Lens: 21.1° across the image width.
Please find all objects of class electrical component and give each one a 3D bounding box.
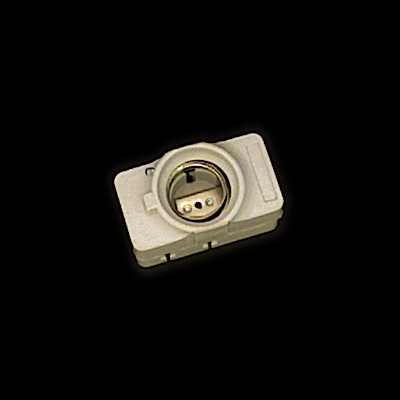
[{"bbox_3d":[0.000,0.000,0.636,0.090,0.050,0.055,-17,-16,-5],"label":"electrical component"}]
